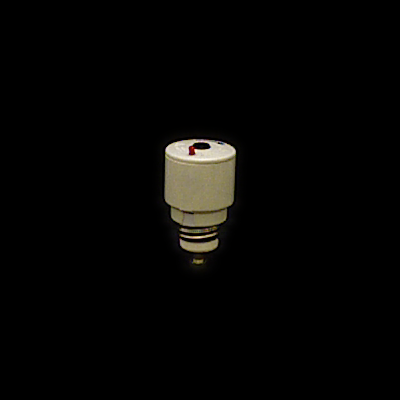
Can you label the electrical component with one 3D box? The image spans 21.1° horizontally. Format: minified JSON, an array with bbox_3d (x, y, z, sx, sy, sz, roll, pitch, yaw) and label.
[{"bbox_3d":[0.000,0.000,0.633,0.040,0.079,0.039,1,22,0],"label":"electrical component"}]
